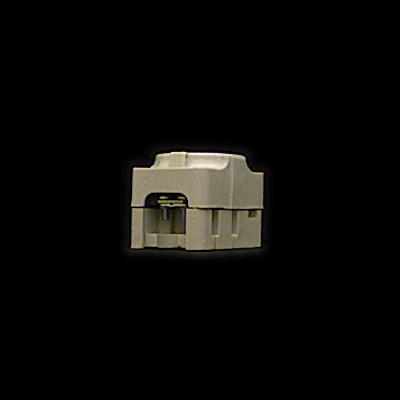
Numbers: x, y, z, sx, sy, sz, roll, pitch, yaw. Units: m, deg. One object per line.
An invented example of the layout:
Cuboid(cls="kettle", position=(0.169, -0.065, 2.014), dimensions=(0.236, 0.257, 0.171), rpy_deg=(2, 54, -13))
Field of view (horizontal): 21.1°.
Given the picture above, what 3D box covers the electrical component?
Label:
Cuboid(cls="electrical component", position=(0.000, 0.000, 0.657), dimensions=(0.050, 0.056, 0.090), rpy_deg=(2, 1, 25))
